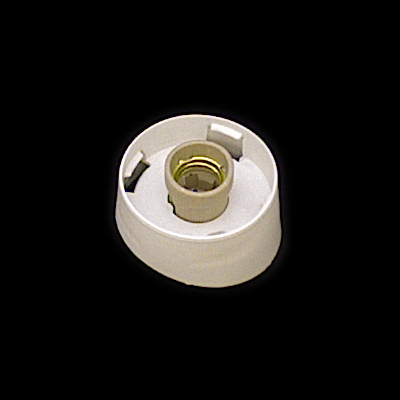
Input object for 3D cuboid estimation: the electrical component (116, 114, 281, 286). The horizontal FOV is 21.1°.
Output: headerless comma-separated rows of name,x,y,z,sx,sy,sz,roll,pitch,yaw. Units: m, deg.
electrical component,0.000,0.000,0.626,0.099,0.098,0.064,0,-38,-1
